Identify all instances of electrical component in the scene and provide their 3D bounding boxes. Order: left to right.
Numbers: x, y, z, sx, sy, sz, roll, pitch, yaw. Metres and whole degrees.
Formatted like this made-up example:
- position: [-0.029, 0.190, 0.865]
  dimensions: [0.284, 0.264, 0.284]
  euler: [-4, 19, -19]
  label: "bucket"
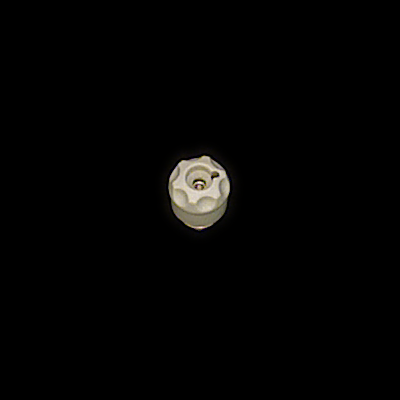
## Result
- position: [0.000, 0.000, 0.633]
  dimensions: [0.035, 0.035, 0.061]
  euler: [0, -26, 0]
  label: "electrical component"
